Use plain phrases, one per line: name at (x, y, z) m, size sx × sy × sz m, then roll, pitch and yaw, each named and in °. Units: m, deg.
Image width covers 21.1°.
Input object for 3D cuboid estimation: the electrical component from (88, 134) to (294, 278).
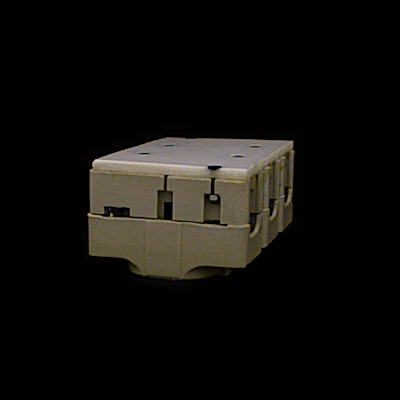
electrical component at (0.000, 0.000, 0.647) m, size 0.089 × 0.062 × 0.148 m, roll 3°, pitch 10°, yaw 14°
